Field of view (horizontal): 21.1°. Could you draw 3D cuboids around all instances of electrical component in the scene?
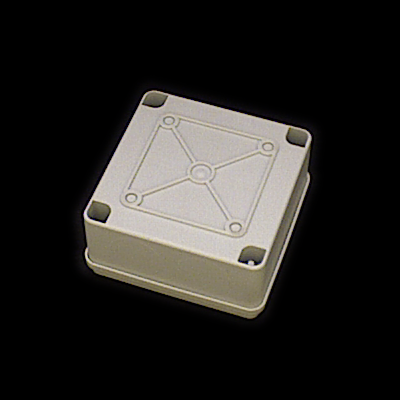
[{"bbox_3d":[0.000,0.000,0.628,0.108,0.108,0.056,16,-35,11],"label":"electrical component"}]
